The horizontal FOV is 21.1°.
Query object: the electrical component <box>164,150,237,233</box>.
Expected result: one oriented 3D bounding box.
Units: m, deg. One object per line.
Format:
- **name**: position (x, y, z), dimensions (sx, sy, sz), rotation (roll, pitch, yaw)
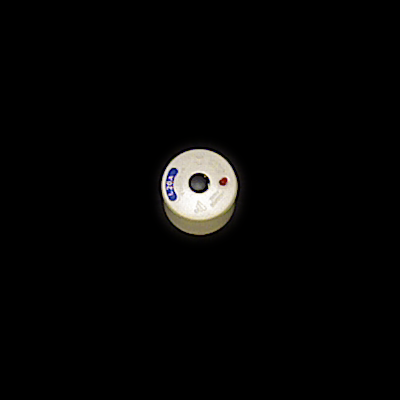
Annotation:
- **electrical component**: position (0.000, 0.000, 0.617), dimensions (0.040, 0.040, 0.078), rotation (0, -17, -1)
